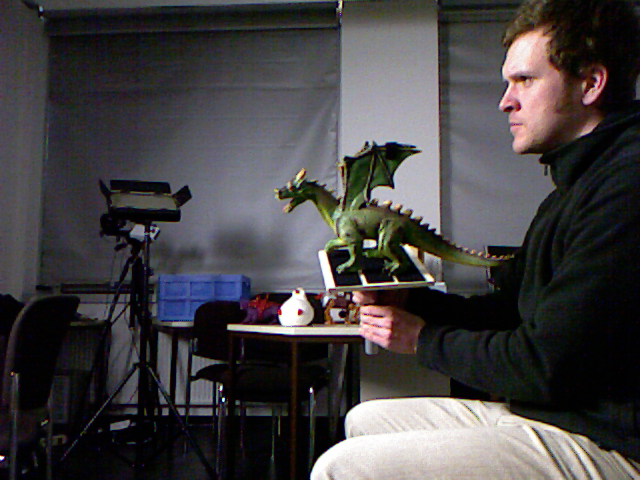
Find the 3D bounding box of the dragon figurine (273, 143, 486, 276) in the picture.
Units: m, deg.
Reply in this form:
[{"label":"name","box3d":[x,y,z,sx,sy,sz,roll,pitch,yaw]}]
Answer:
[{"label":"dragon figurine","box3d":[0.116,-0.065,1.003,0.411,0.240,0.124,0,20,6]}]
